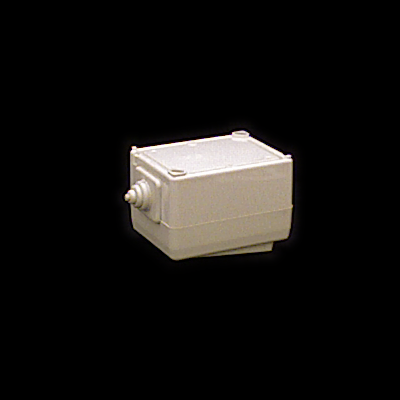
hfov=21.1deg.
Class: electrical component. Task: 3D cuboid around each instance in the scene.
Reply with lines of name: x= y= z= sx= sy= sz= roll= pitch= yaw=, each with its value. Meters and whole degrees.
electrical component: x=0.000 y=0.000 z=0.641 sx=0.096 sy=0.061 sz=0.061 roll=-10 pitch=24 yaw=-26
